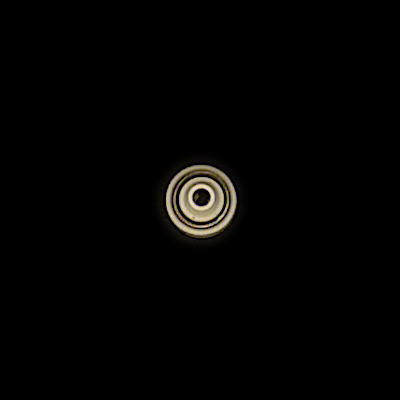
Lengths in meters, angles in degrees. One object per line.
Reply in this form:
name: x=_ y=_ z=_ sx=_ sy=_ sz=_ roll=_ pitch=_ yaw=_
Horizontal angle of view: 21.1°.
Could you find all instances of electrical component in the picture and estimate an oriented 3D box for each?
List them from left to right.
electrical component: x=0.000 y=0.000 z=0.635 sx=0.043 sy=0.043 sz=0.062 roll=0 pitch=-4 yaw=0
